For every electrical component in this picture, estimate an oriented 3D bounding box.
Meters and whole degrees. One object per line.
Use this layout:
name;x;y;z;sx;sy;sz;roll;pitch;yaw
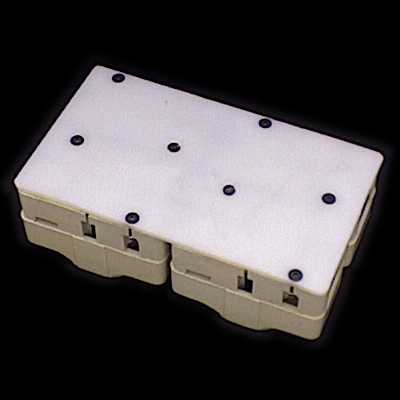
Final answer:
electrical component;0.000;0.000;0.627;0.186;0.105;0.060;19;-36;13
